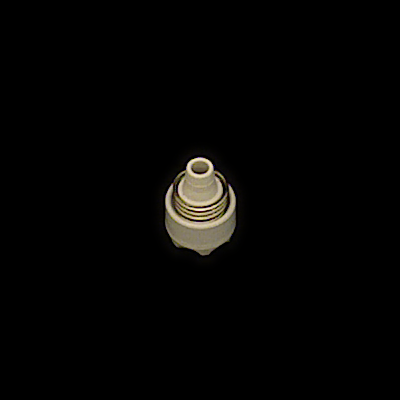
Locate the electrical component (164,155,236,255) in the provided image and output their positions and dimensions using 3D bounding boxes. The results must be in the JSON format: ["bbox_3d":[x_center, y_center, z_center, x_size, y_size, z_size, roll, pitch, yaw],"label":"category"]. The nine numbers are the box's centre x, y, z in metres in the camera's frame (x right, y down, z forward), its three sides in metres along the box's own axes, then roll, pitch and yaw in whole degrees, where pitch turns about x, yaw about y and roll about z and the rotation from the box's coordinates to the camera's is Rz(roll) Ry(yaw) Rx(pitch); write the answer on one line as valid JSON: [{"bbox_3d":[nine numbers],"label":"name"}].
[{"bbox_3d":[0.000,0.000,0.636,0.043,0.043,0.062,0,-38,0],"label":"electrical component"}]
